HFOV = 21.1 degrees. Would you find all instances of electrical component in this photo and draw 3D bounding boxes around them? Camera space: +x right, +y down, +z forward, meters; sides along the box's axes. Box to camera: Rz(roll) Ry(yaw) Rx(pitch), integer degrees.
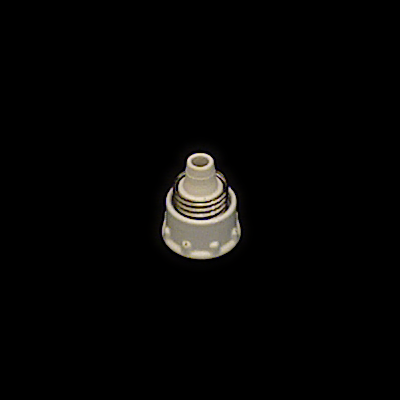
[{"bbox_3d":[0.000,0.000,0.638,0.048,0.062,0.047,0,41,0],"label":"electrical component"}]
